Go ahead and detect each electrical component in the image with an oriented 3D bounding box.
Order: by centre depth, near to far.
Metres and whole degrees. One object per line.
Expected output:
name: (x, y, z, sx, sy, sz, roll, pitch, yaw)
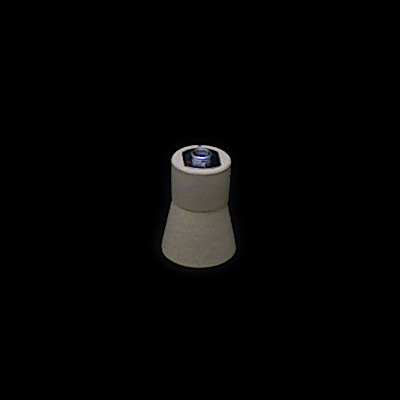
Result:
electrical component: (0.000, 0.000, 0.633, 0.044, 0.066, 0.044, 2, 31, -1)
